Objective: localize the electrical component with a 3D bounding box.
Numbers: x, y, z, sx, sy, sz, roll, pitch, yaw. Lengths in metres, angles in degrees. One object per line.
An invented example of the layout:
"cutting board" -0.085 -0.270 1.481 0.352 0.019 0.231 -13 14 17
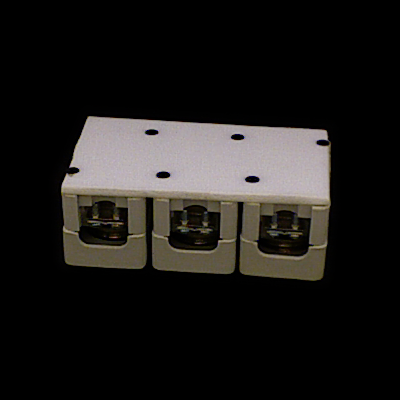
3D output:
"electrical component" 0.000 0.000 0.642 0.150 0.063 0.087 4 32 4
